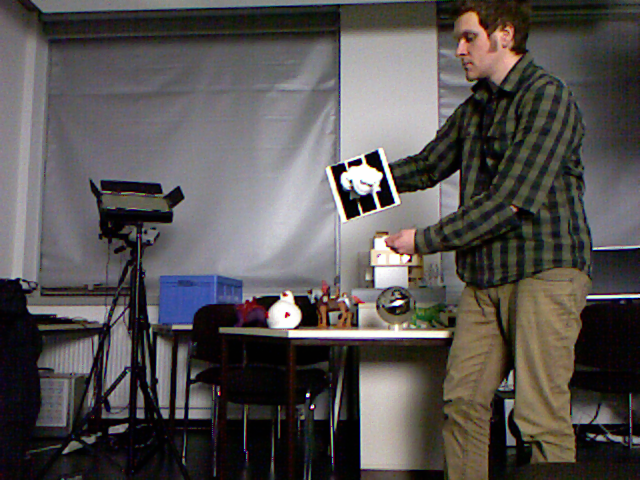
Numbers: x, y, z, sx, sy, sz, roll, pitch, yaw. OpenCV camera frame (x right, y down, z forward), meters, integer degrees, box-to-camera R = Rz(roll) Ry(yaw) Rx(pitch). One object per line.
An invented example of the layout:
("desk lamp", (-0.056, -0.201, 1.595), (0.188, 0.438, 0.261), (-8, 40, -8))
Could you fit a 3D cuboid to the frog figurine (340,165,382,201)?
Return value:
("frog figurine", (0.131, -0.198, 1.672), (0.137, 0.124, 0.158), (4, -13, 7))
